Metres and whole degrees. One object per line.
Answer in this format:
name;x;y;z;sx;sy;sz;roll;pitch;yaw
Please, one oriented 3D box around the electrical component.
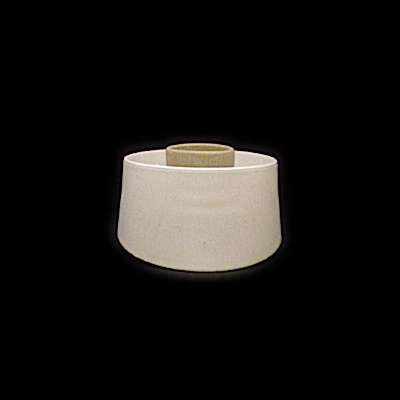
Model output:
electrical component;0.000;0.000;0.644;0.099;0.064;0.098;1;11;0
